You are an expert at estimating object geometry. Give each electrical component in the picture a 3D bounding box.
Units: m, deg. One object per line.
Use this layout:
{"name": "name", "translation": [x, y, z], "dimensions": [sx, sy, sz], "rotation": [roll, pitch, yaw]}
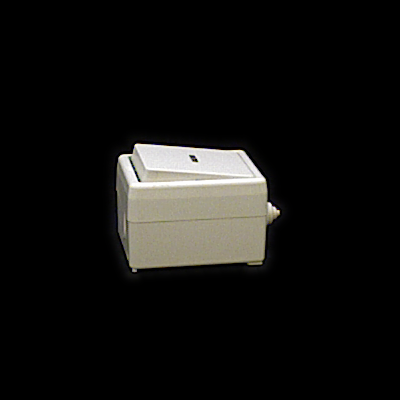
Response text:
{"name": "electrical component", "translation": [0.000, 0.000, 0.639], "dimensions": [0.096, 0.061, 0.061], "rotation": [-3, 21, -11]}
